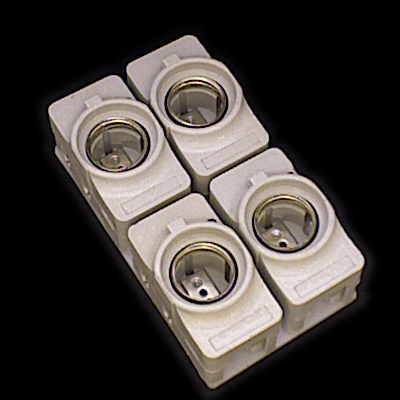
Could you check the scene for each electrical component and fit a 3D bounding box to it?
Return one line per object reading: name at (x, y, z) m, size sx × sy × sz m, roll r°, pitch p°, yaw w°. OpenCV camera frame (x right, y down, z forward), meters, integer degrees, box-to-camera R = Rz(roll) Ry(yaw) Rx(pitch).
electrical component at (0.000, 0.000, 0.625) m, size 0.106 × 0.186 × 0.060 m, roll -29°, pitch -23°, yaw -14°
